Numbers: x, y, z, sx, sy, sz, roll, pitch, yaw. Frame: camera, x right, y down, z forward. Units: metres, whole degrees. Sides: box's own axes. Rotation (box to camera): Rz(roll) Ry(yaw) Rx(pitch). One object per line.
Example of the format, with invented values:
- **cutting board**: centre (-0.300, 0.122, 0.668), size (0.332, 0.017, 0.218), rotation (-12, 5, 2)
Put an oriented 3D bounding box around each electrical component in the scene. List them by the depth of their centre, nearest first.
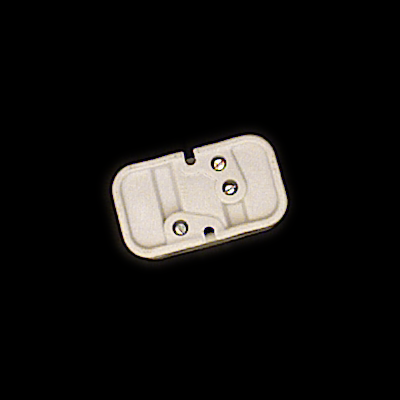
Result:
- **electrical component**: centre (0.000, 0.000, 0.637), size (0.095, 0.054, 0.059), rotation (-15, -6, -1)
